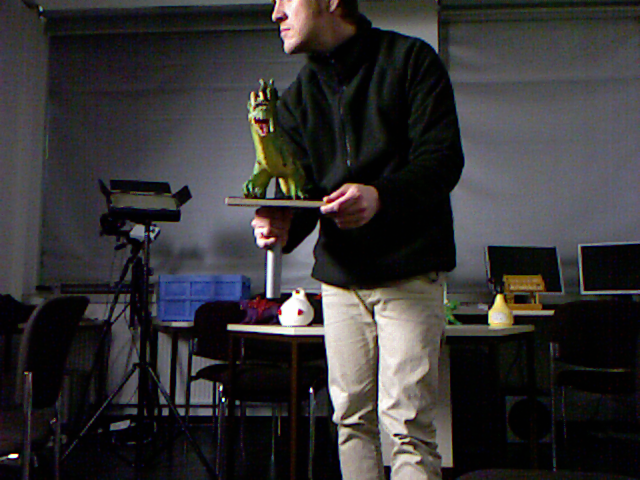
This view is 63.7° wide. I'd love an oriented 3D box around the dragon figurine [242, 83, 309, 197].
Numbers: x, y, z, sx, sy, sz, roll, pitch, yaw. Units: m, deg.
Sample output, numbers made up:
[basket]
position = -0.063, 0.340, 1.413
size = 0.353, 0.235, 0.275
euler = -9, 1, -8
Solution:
[dragon figurine]
position = -0.088, -0.211, 1.100
size = 0.122, 0.242, 0.412
euler = -2, 5, 5
